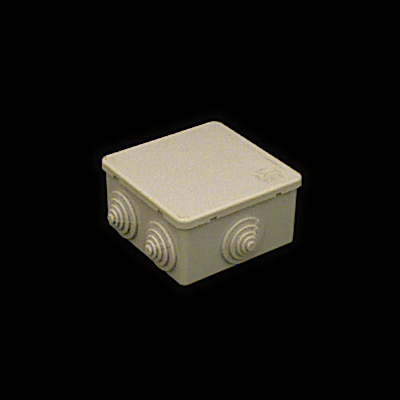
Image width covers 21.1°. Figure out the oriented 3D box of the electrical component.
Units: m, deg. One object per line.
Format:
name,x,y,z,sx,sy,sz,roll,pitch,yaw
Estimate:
electrical component,0.000,0.000,0.645,0.100,0.049,0.098,-20,38,-30
